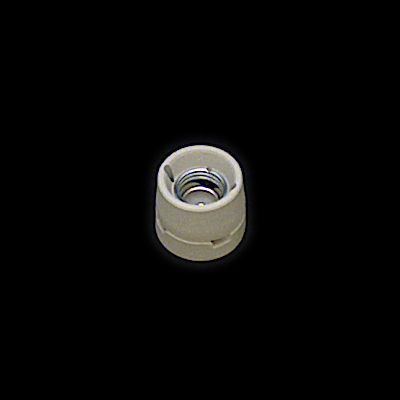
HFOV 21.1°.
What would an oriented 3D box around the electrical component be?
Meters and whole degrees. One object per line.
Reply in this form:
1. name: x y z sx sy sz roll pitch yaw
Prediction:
1. electrical component: 0.000 0.000 0.634 0.055 0.055 0.047 0 -38 1
